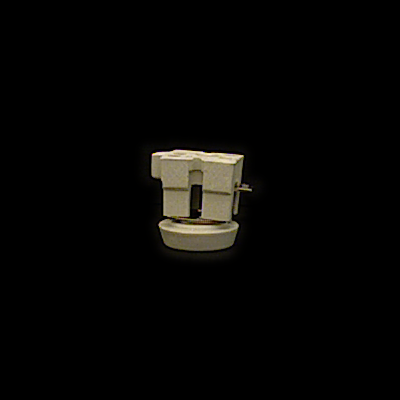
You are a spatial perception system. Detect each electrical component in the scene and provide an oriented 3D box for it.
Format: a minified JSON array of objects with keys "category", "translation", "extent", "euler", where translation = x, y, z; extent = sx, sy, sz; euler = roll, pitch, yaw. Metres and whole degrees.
[{"category":"electrical component","translation":[0.000,0.000,0.651],"extent":[0.066,0.056,0.048],"euler":[4,11,10]}]
